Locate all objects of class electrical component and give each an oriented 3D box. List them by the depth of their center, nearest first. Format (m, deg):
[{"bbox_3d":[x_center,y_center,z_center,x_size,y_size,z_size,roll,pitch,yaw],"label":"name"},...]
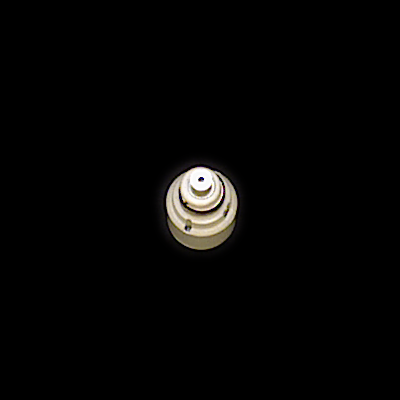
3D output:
[{"bbox_3d":[0.000,0.000,0.617,0.040,0.040,0.078,0,-18,0],"label":"electrical component"}]
